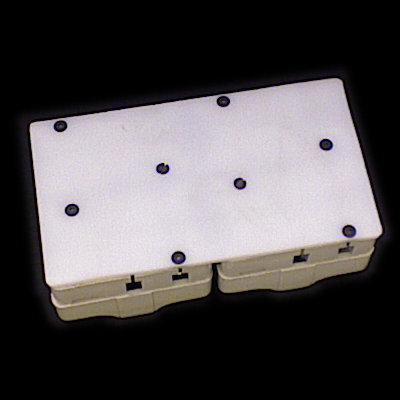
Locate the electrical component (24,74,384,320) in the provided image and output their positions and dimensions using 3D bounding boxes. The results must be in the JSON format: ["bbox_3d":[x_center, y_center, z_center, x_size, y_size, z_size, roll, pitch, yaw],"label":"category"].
[{"bbox_3d":[0.000,0.000,0.625,0.186,0.105,0.060,-9,-27,-4],"label":"electrical component"}]
